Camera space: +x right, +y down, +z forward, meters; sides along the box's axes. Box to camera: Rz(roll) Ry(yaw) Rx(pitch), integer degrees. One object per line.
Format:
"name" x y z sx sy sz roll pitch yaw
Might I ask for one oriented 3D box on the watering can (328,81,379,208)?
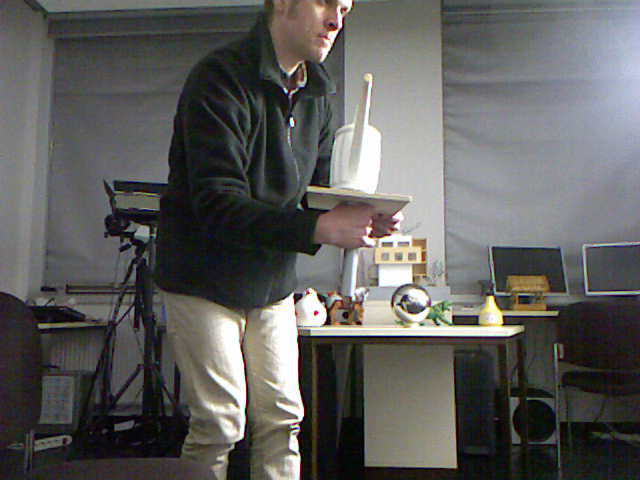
"watering can" 0.073 -0.177 1.064 0.104 0.226 0.347 4 -5 1
